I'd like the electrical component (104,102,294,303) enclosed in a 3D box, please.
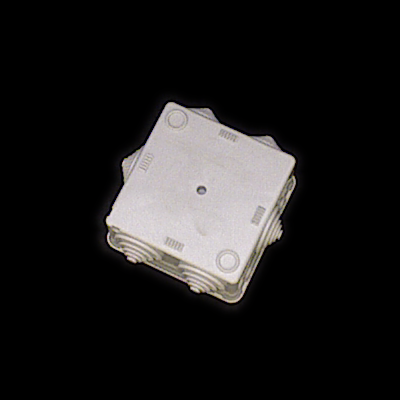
[{"bbox_3d":[0.000,0.000,0.631,0.099,0.100,0.048,25,-15,7],"label":"electrical component"}]
